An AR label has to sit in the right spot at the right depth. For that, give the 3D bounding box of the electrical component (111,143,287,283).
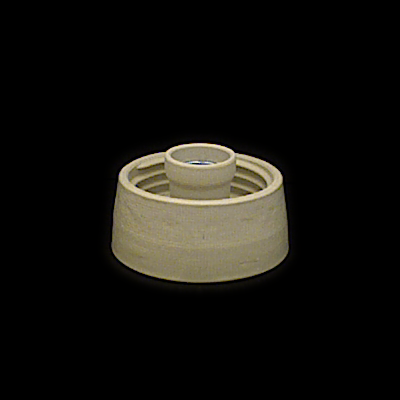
[{"bbox_3d":[0.000,0.000,0.647,0.108,0.061,0.106,1,21,0],"label":"electrical component"}]
